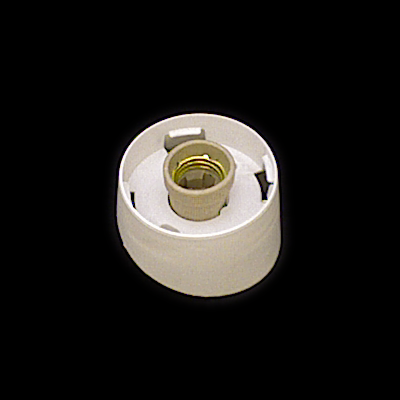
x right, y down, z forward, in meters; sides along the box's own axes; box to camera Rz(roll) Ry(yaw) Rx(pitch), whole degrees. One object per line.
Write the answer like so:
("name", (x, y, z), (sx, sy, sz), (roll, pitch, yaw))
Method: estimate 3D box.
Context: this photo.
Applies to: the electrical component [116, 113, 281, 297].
("electrical component", (0.000, 0.000, 0.626), (0.099, 0.098, 0.064), (0, -37, -1))
